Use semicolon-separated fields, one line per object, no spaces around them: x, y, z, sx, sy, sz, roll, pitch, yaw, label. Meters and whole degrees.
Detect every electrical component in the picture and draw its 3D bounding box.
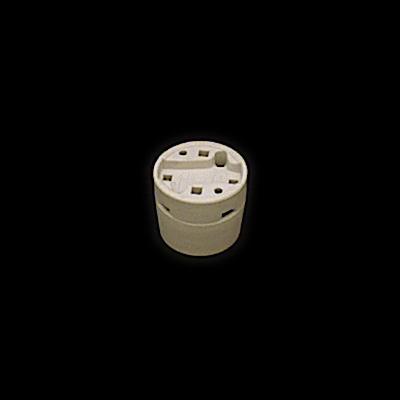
0.000;0.000;0.635;0.055;0.047;0.055;1;42;0;electrical component
